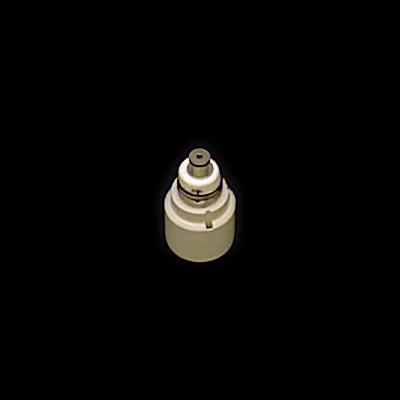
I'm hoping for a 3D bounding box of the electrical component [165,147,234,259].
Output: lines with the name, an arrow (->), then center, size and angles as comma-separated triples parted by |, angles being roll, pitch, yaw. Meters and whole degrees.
electrical component -> 0.000, 0.000, 0.620 | 0.040, 0.040, 0.079 | 0, -39, 1
